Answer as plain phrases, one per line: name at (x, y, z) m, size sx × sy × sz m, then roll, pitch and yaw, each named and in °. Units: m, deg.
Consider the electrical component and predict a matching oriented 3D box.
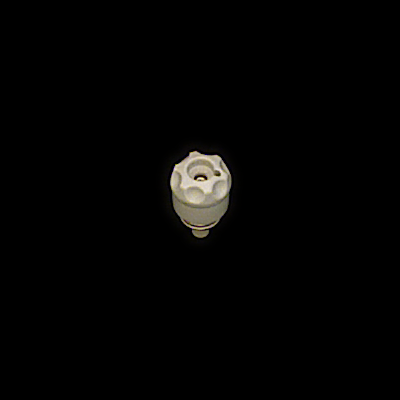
electrical component at (0.000, 0.000, 0.634) m, size 0.035 × 0.035 × 0.061 m, roll 0°, pitch -37°, yaw 0°
